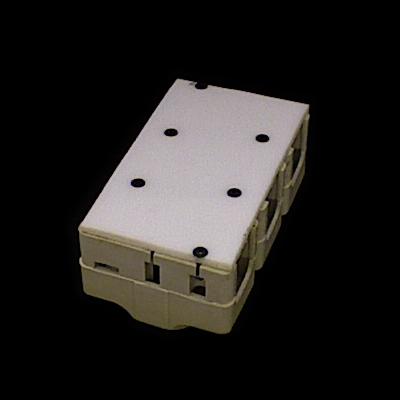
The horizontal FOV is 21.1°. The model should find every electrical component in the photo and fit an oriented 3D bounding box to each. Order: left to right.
[{"bbox_3d":[0.000,0.000,0.634,0.089,0.063,0.148,14,44,15],"label":"electrical component"}]
